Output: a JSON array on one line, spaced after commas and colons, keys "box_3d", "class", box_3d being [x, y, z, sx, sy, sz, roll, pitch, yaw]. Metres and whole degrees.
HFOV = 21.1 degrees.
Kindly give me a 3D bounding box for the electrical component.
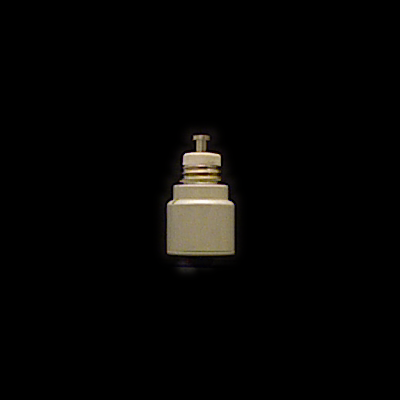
[{"box_3d": [0.000, 0.000, 0.651, 0.040, 0.078, 0.040, 1, 2, 0], "class": "electrical component"}]
